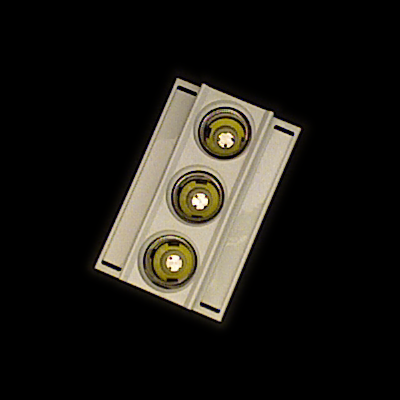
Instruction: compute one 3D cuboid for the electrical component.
[{"bbox_3d":[0.000,0.000,0.637,0.079,0.121,0.063,23,-5,4],"label":"electrical component"}]
